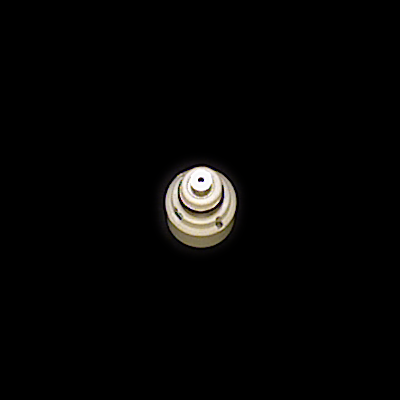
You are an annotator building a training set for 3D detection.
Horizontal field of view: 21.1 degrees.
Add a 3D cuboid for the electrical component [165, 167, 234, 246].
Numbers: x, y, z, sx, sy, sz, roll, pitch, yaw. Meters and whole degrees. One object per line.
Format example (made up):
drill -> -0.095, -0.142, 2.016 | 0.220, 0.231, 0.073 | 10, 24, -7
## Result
electrical component -> 0.000, 0.000, 0.618 | 0.040, 0.040, 0.078 | 0, -16, -1
